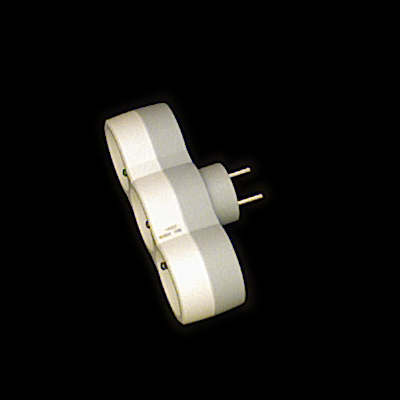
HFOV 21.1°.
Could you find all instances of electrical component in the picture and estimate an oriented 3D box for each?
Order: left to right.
[{"bbox_3d":[0.000,0.000,0.638,0.074,0.138,0.052,-19,-25,-11],"label":"electrical component"}]
